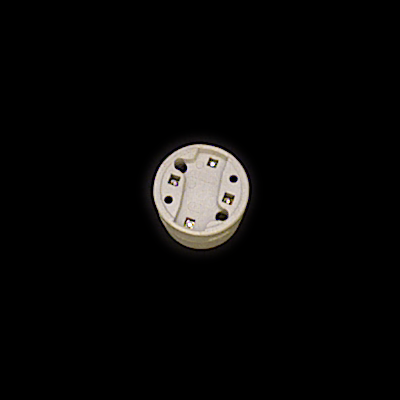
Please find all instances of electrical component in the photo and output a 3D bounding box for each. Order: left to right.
[{"bbox_3d":[0.000,0.000,0.635,0.055,0.056,0.047,0,-17,0],"label":"electrical component"}]
